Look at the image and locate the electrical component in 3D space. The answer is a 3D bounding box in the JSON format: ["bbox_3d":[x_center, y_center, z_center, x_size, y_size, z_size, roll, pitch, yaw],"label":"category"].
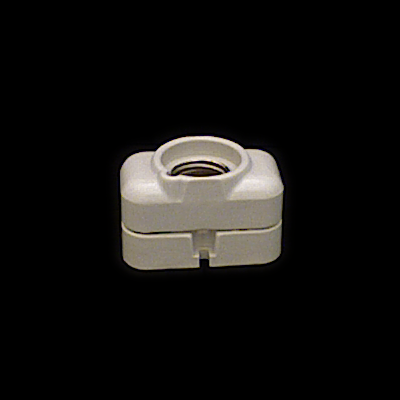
[{"bbox_3d":[0.000,0.000,0.640,0.095,0.060,0.053,-3,32,-5],"label":"electrical component"}]
